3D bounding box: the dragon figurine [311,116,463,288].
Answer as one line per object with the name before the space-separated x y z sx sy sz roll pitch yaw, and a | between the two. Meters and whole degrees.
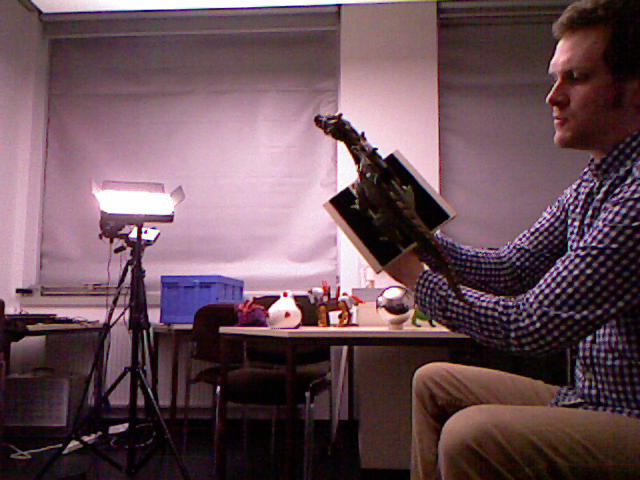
dragon figurine | 0.135 -0.087 0.965 0.123 0.416 0.240 -42 -18 -4
